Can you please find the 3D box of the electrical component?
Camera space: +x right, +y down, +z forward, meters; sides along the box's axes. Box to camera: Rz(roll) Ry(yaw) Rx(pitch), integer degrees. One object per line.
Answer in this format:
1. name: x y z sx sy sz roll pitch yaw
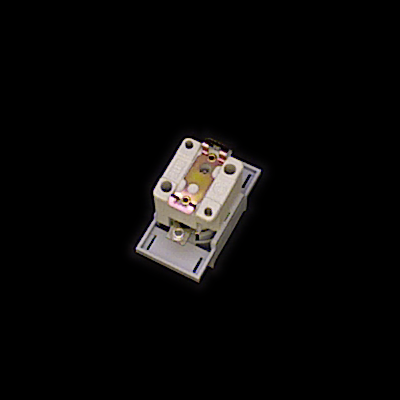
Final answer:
1. electrical component: 0.000 0.000 0.625 0.042 0.081 0.063 25 -25 12
